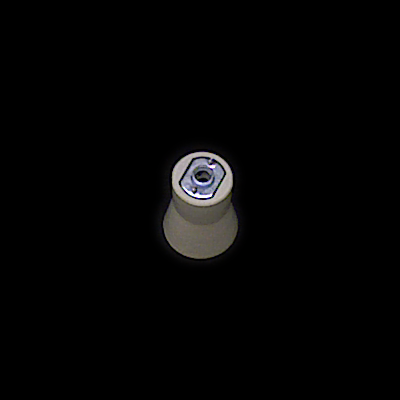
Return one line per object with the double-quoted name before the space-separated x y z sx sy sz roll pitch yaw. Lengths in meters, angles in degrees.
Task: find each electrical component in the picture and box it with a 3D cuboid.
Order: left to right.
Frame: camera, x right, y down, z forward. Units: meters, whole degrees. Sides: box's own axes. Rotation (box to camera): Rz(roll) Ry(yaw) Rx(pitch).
"electrical component" 0.000 0.000 0.624 0.044 0.044 0.065 0 -27 -1
